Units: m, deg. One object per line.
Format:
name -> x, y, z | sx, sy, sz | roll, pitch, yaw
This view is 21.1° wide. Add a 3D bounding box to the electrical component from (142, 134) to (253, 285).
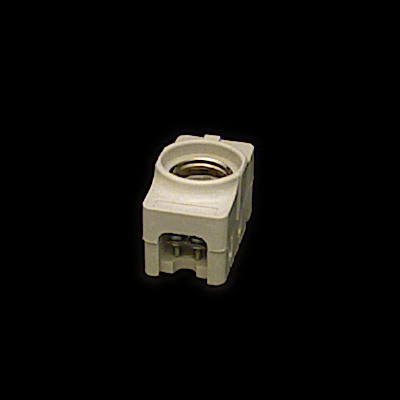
electrical component -> 0.000, 0.000, 0.643 | 0.050, 0.056, 0.089 | 7, 33, 10
